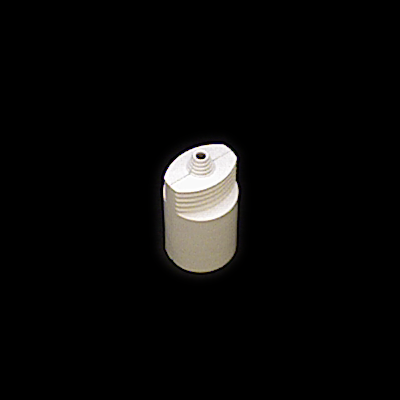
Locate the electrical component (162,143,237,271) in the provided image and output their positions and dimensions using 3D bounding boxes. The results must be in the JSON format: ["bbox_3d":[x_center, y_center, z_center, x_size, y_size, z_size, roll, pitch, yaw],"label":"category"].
[{"bbox_3d":[0.000,0.000,0.620,0.043,0.043,0.081,0,-38,0],"label":"electrical component"}]
